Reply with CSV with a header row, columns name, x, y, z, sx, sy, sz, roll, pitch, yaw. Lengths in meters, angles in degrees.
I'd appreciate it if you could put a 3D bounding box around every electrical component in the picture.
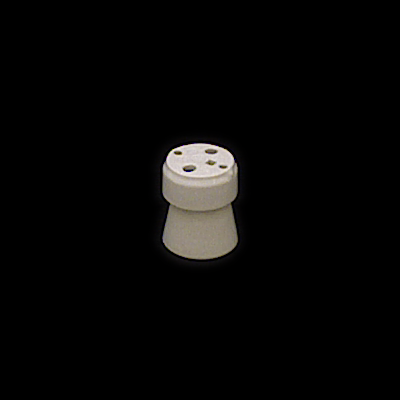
name,x,y,z,sx,sy,sz,roll,pitch,yaw
electrical component,0.000,0.000,0.634,0.045,0.056,0.044,0,32,0
